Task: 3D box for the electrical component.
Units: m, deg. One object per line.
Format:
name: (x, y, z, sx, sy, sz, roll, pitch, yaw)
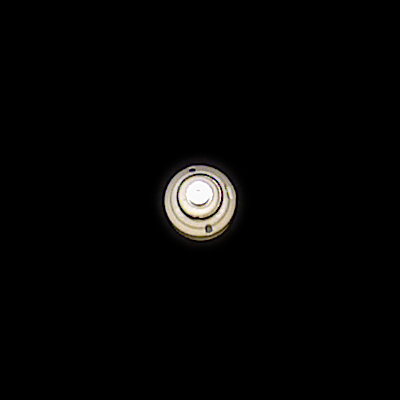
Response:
electrical component: (0.000, 0.000, 0.618, 0.040, 0.040, 0.078, 0, -7, 1)
